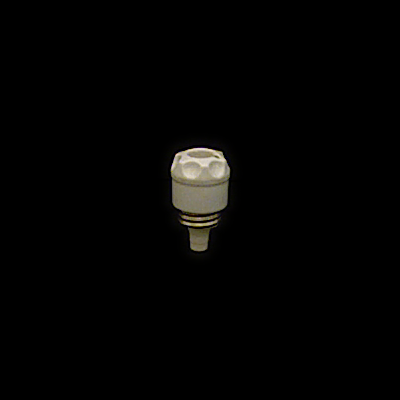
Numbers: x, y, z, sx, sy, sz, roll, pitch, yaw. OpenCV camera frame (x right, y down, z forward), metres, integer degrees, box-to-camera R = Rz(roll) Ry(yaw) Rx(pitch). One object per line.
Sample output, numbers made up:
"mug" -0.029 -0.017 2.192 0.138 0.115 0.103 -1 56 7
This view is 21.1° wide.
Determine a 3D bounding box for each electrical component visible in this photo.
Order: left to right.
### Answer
"electrical component" 0.000 0.000 0.644 0.035 0.062 0.034 1 22 0
